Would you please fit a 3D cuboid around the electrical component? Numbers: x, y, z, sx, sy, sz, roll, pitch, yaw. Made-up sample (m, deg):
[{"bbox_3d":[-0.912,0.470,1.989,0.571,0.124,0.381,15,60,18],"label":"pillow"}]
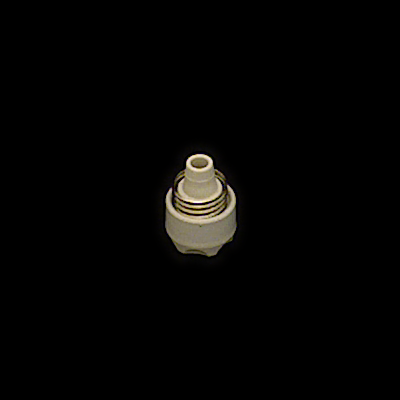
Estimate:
[{"bbox_3d":[0.000,0.000,0.637,0.043,0.062,0.043,0,43,1],"label":"electrical component"}]
